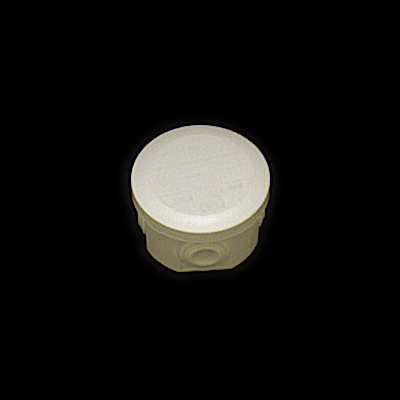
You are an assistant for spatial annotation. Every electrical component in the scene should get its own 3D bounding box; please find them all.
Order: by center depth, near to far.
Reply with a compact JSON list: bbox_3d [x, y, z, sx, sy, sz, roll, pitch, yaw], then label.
[{"bbox_3d":[0.000,0.000,0.630,0.080,0.080,0.051,0,-38,0],"label":"electrical component"}]
